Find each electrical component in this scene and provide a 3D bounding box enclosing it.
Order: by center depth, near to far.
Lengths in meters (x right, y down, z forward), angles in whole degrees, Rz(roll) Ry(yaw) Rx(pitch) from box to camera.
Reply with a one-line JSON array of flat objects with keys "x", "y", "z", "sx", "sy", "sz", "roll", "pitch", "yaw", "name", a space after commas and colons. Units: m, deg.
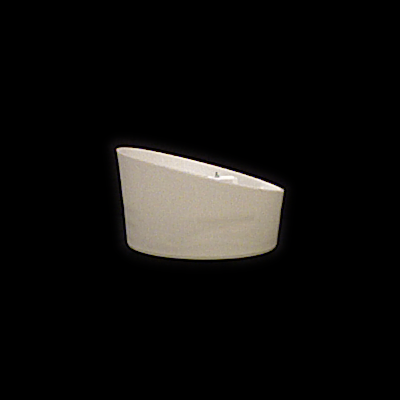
[{"x": 0.000, "y": 0.000, "z": 0.642, "sx": 0.099, "sy": 0.064, "sz": 0.098, "roll": 1, "pitch": 11, "yaw": 0, "name": "electrical component"}]
